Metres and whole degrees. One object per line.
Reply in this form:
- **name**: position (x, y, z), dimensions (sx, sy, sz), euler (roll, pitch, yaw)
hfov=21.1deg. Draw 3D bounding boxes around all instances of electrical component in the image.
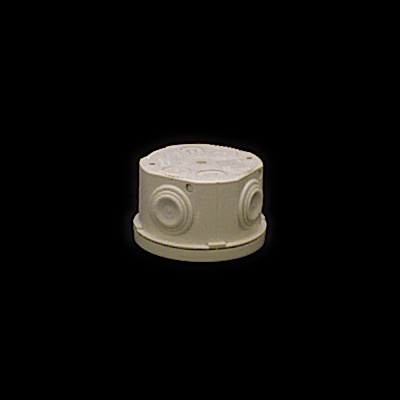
- **electrical component**: position (0.000, 0.000, 0.642), dimensions (0.080, 0.051, 0.079), euler (2, 21, 0)
